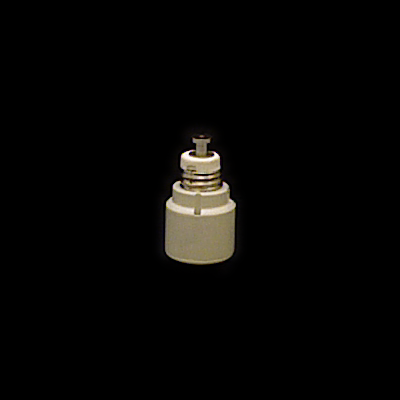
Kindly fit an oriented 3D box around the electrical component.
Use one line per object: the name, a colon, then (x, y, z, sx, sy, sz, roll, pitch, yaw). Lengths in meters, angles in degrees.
electrical component: (0.000, 0.000, 0.634, 0.040, 0.079, 0.039, 1, 20, 0)
